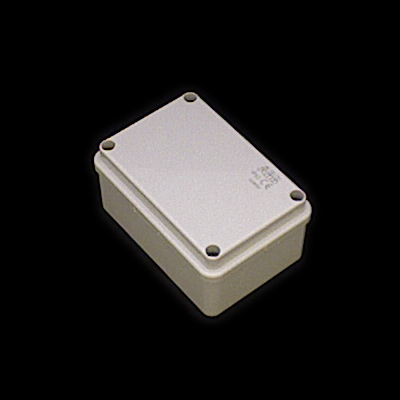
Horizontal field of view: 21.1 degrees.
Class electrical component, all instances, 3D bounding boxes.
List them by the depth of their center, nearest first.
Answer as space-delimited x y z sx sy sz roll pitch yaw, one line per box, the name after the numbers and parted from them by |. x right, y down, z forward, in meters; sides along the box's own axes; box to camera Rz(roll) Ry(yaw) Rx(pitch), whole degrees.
0.000 0.000 0.629 0.078 0.112 0.057 -33 -31 -23 | electrical component
